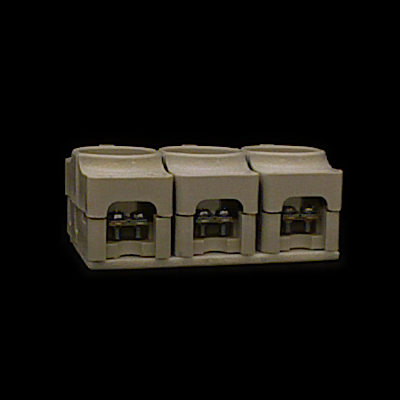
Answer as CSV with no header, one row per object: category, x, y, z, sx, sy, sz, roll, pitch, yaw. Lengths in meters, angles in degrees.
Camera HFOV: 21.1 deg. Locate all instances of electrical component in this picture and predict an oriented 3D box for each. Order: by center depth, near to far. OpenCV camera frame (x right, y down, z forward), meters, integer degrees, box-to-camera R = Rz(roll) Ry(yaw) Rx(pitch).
electrical component,0.000,0.000,0.652,0.150,0.062,0.088,-1,10,-15
